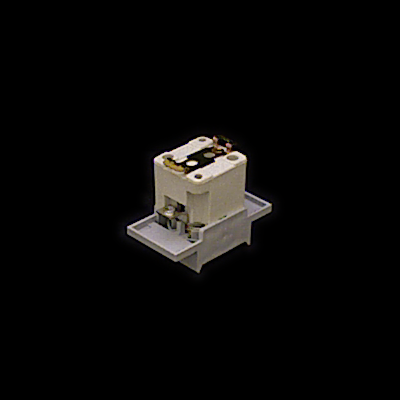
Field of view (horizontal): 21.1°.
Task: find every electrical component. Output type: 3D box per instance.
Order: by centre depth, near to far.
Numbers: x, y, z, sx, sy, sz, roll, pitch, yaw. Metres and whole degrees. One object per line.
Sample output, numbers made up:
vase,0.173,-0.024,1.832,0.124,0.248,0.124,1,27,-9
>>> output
electrical component,0.000,0.000,0.633,0.042,0.064,0.080,28,40,37
